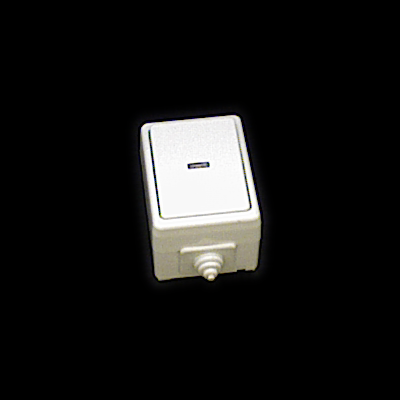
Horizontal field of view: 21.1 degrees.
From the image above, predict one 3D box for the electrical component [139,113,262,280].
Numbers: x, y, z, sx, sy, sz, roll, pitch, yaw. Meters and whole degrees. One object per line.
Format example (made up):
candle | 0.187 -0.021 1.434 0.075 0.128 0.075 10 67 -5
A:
electrical component | 0.000 0.000 0.626 0.062 0.096 0.061 -6 -37 -5
